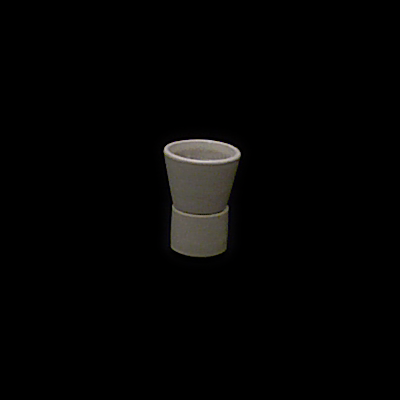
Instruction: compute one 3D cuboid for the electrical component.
[{"bbox_3d":[0.000,0.000,0.640,0.044,0.066,0.044,2,21,-1],"label":"electrical component"}]
